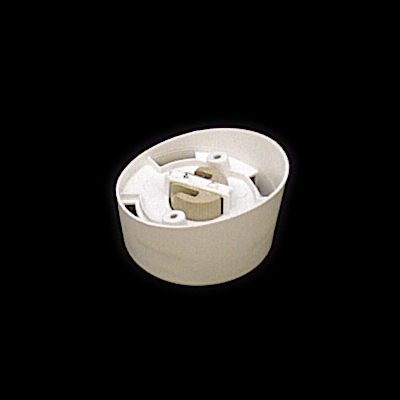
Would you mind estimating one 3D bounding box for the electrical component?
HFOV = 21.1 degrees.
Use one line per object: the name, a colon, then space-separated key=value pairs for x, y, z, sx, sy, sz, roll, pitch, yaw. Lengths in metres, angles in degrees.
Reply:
electrical component: x=0.000 y=0.000 z=0.629 sx=0.099 sy=0.065 sz=0.098 roll=1 pitch=41 yaw=-1
